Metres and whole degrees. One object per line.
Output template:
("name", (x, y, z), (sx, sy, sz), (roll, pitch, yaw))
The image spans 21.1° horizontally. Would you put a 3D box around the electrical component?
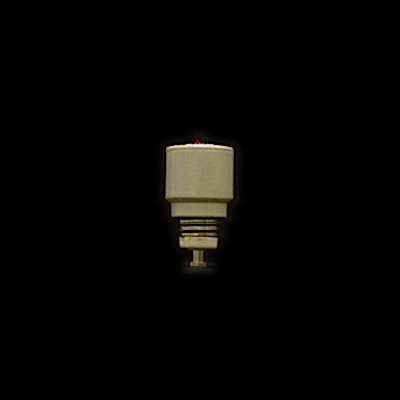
("electrical component", (0.000, 0.000, 0.652), (0.040, 0.078, 0.040), (1, 1, 0))
